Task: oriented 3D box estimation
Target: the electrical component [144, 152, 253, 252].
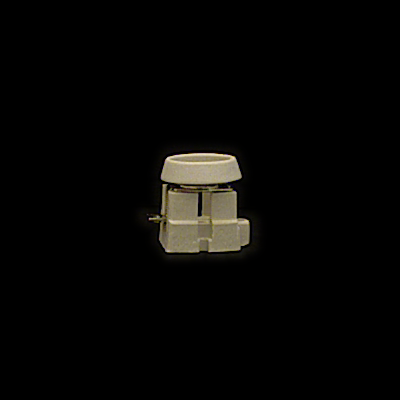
[{"bbox_3d":[0.000,0.000,0.650,0.067,0.056,0.048,-1,10,-12],"label":"electrical component"}]
